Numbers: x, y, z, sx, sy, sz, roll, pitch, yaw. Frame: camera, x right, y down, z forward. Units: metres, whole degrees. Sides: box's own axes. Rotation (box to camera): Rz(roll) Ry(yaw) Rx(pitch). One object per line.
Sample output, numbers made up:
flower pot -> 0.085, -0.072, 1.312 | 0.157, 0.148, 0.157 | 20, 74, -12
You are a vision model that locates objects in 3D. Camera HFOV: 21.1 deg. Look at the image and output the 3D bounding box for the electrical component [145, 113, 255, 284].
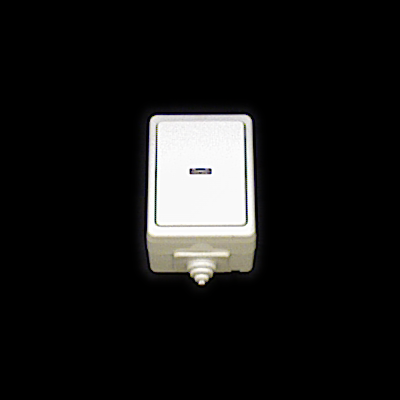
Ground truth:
electrical component -> 0.000, 0.000, 0.625 | 0.062, 0.096, 0.060 | 0, -27, 0
